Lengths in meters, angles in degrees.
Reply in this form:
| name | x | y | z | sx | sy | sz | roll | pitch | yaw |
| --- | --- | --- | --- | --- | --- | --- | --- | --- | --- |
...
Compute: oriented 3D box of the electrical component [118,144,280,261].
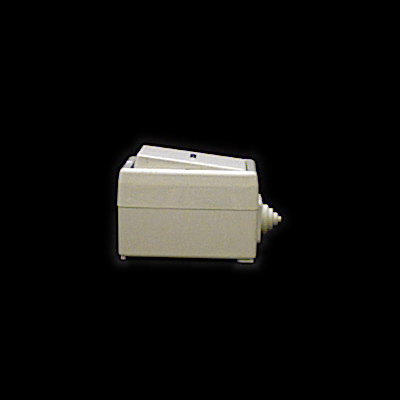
| name | x | y | z | sx | sy | sz | roll | pitch | yaw |
| --- | --- | --- | --- | --- | --- | --- | --- | --- | --- |
| electrical component | 0.000 | 0.000 | 0.644 | 0.096 | 0.061 | 0.061 | 1 | 11 | 1 |
